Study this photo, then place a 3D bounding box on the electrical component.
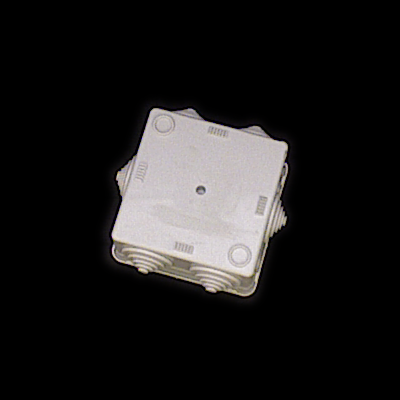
[{"bbox_3d":[0.000,0.000,0.631,0.100,0.100,0.048,15,-16,5],"label":"electrical component"}]
